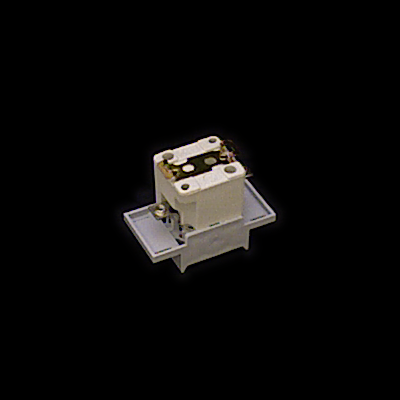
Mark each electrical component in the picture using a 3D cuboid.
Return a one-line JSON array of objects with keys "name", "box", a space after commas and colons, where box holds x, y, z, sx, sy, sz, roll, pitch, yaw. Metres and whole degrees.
[{"name": "electrical component", "box": [0.000, 0.000, 0.629, 0.081, 0.064, 0.042, -19, 46, -21]}]
